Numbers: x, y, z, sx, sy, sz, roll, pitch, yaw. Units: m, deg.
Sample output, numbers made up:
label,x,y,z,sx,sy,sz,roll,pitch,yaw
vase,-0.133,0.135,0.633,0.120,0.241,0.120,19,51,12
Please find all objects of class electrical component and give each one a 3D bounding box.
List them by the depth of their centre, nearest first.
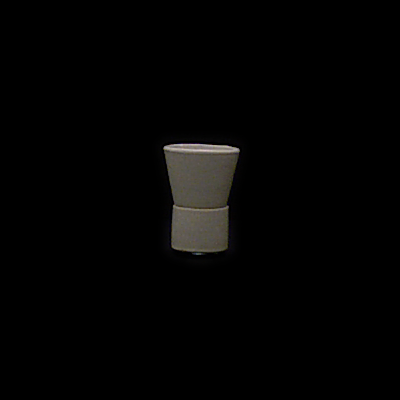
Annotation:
label,x,y,z,sx,sy,sz,roll,pitch,yaw
electrical component,0.000,0.000,0.646,0.044,0.066,0.044,1,10,0
